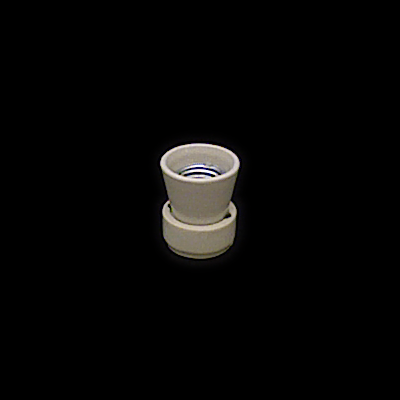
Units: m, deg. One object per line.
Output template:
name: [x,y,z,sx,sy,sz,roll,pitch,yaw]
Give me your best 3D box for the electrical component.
electrical component: [0.000,0.000,0.634,0.045,0.056,0.044,0,32,0]
